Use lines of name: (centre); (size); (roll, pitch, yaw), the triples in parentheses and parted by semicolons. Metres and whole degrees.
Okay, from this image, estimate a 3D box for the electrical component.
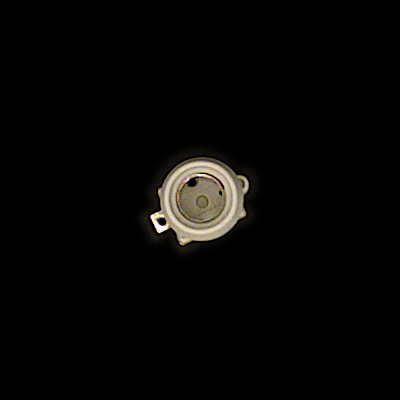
electrical component: (0.000, 0.000, 0.639); (0.066, 0.048, 0.055); (-26, -7, -2)
